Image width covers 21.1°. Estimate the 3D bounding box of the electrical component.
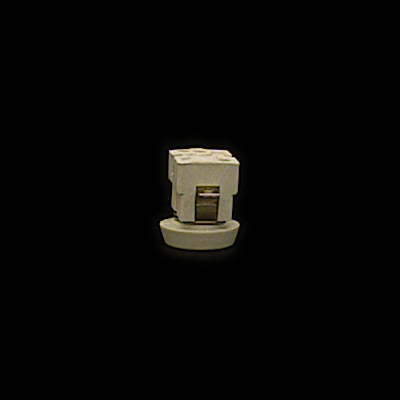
[{"bbox_3d":[0.000,0.000,0.652,0.048,0.056,0.065,0,13,-9],"label":"electrical component"}]
